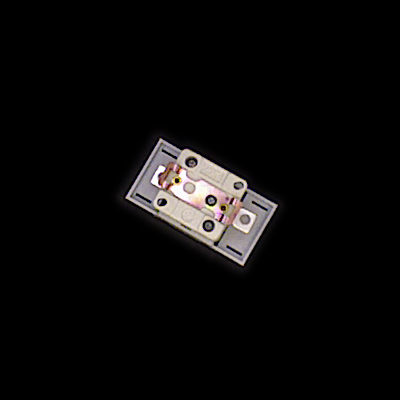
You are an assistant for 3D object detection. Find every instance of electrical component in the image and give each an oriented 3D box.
[{"bbox_3d":[0.000,0.000,0.626,0.081,0.042,0.063,29,-5,3],"label":"electrical component"}]
